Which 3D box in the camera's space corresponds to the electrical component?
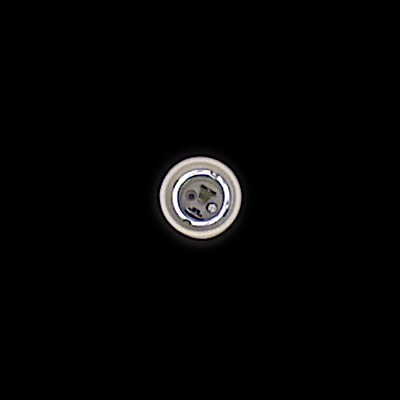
[{"bbox_3d":[0.000,0.000,0.629,0.045,0.045,0.055,0,-6,1],"label":"electrical component"}]
